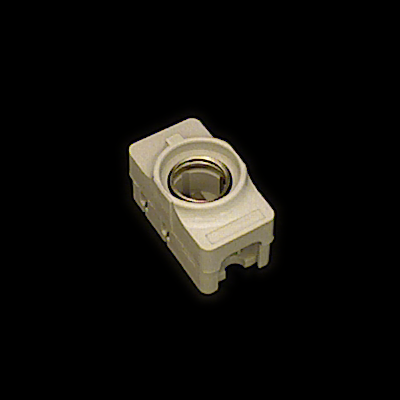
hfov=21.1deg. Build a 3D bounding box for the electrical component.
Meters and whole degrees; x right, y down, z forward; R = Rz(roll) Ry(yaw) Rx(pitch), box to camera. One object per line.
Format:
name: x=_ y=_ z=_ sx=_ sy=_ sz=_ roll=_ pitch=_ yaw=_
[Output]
electrical component: x=0.000 y=0.000 z=0.637 sx=0.050 sy=0.089 sz=0.056 roll=-27 pitch=-32 yaw=-19
